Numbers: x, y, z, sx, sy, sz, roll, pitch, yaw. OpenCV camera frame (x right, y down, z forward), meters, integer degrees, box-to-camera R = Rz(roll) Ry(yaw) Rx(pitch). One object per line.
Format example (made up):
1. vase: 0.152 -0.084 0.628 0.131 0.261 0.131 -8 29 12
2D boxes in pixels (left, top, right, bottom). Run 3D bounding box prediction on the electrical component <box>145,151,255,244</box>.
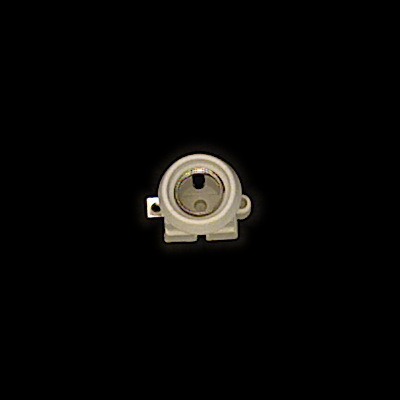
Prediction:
1. electrical component: 0.000 0.000 0.637 0.066 0.048 0.055 -4 -18 -1
